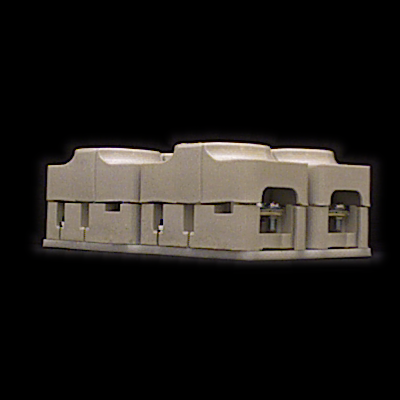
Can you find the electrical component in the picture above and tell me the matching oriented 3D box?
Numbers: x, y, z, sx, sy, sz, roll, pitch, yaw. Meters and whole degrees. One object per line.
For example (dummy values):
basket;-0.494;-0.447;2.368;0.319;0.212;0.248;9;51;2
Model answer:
electrical component;0.000;0.000;0.649;0.106;0.060;0.185;1;-1;-43
